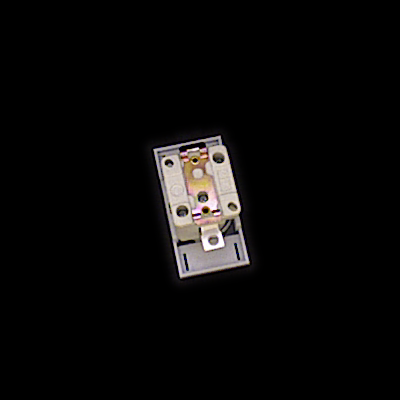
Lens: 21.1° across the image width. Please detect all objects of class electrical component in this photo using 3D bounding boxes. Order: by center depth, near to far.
[{"bbox_3d":[0.000,0.000,0.625,0.042,0.081,0.063,-12,-16,-3],"label":"electrical component"}]
